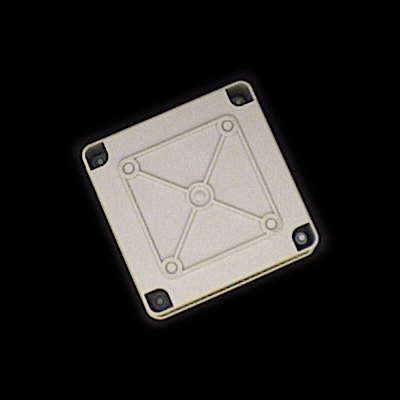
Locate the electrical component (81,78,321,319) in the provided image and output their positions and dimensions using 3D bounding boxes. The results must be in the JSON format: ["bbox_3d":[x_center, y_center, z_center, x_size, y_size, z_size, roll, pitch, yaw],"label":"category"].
[{"bbox_3d":[0.000,0.000,0.629,0.109,0.109,0.056,-23,-6,-3],"label":"electrical component"}]
